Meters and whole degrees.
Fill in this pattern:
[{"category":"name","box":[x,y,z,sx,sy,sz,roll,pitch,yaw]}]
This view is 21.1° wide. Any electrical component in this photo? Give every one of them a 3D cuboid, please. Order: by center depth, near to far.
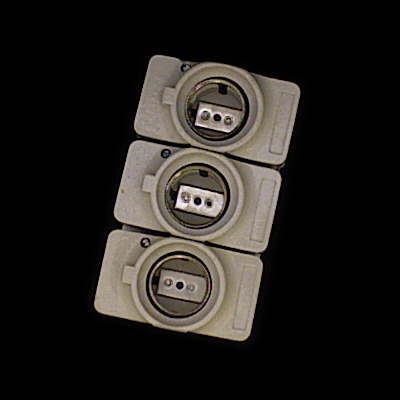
[{"category":"electrical component","box":[0.000,0.000,0.632,0.089,0.150,0.061,12,-6,2]}]
